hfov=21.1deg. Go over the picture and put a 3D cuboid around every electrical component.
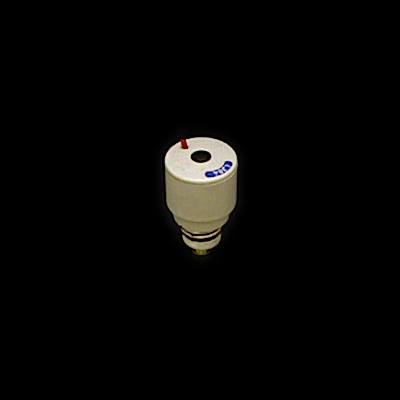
[{"bbox_3d":[0.000,0.000,0.626,0.040,0.079,0.039,0,41,0],"label":"electrical component"}]
